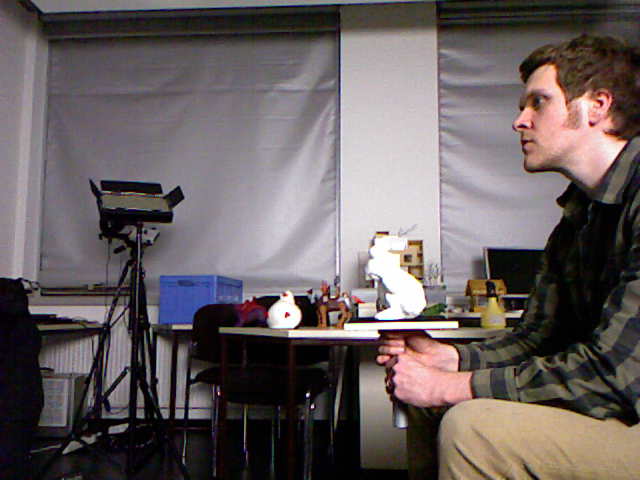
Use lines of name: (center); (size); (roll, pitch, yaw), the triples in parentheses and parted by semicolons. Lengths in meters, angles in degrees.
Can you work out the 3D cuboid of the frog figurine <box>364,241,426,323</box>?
frog figurine: (0.151, 0.082, 1.033); (0.122, 0.160, 0.137); (-1, -1, 25)
